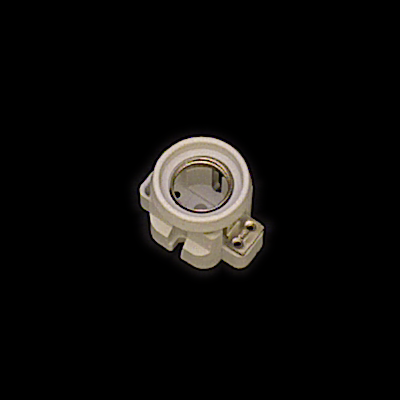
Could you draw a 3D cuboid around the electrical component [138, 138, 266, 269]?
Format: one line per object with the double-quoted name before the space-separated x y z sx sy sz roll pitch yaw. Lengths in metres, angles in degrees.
"electrical component" 0.000 0.000 0.628 0.078 0.058 0.057 32 -23 15
